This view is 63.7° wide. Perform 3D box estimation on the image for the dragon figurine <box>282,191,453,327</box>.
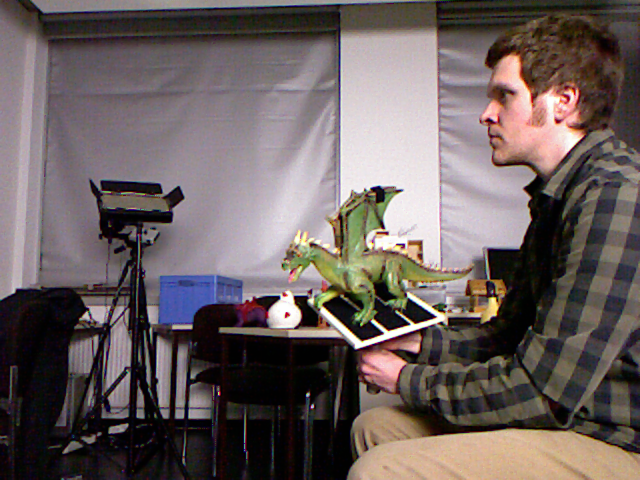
[{"bbox_3d":[0.106,0.022,1.004,0.413,0.239,0.124,-16,27,-28],"label":"dragon figurine"}]
